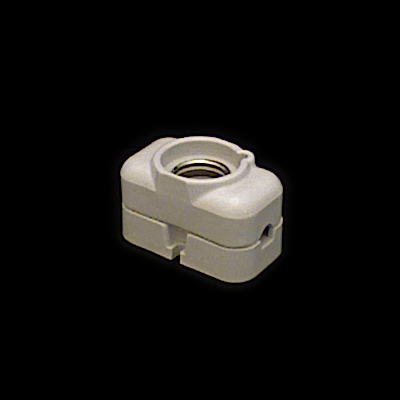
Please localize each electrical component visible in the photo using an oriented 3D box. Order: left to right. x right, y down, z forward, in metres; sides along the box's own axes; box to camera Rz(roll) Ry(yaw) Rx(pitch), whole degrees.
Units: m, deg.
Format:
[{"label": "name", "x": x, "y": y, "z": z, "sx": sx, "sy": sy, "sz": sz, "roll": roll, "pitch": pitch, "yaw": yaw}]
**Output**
[{"label": "electrical component", "x": 0.000, "y": 0.000, "z": 0.642, "sx": 0.094, "sy": 0.060, "sz": 0.053, "roll": 21, "pitch": 38, "yaw": 28}]
